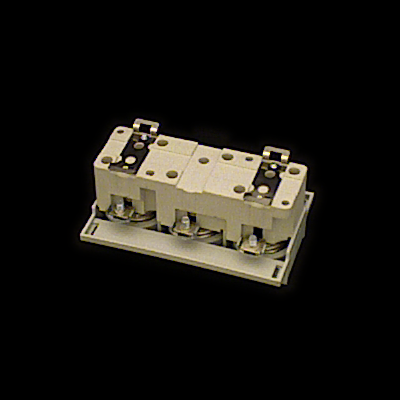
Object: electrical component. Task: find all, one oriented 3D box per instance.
[{"bbox_3d":[0.000,0.000,0.635,0.121,0.063,0.078,12,44,12],"label":"electrical component"}]
